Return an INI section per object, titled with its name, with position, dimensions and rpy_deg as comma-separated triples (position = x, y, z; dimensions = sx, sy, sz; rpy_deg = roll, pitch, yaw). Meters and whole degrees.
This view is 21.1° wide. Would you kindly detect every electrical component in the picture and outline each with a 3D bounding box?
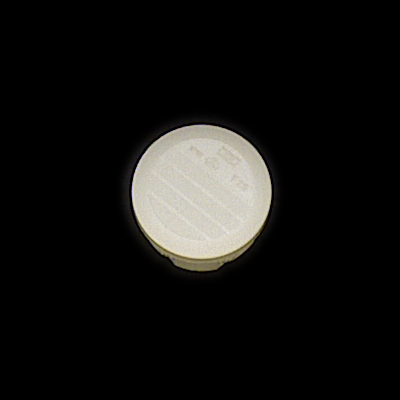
[electrical component]
position = 0.000, 0.000, 0.629
dimensions = 0.080, 0.080, 0.050
rpy_deg = 0, -17, 0
